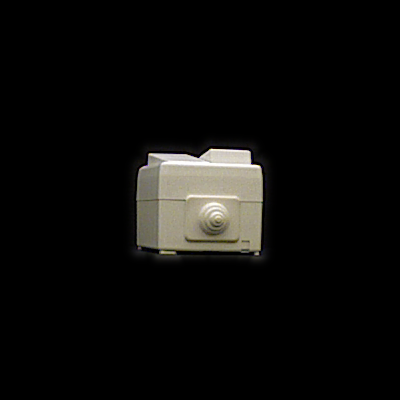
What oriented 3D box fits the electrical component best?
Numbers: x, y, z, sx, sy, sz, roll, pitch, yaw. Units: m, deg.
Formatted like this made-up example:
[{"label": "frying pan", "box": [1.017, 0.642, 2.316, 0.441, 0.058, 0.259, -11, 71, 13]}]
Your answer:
[{"label": "electrical component", "box": [0.000, 0.000, 0.647, 0.062, 0.061, 0.096, 1, 0, -13]}]
